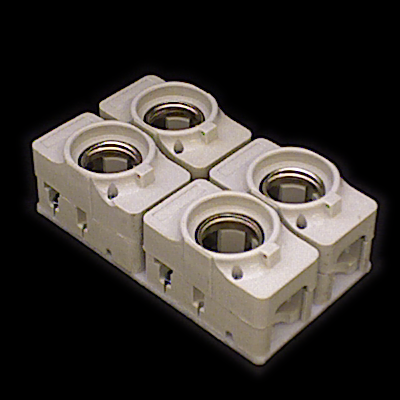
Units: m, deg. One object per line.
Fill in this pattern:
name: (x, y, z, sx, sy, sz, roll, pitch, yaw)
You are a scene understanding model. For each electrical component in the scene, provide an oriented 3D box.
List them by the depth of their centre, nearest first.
electrical component: (0.000, 0.000, 0.630, 0.185, 0.061, 0.105, 32, 51, 30)
